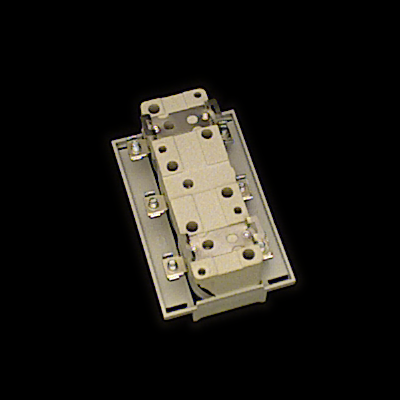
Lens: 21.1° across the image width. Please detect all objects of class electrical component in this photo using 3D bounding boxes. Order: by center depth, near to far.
[{"bbox_3d":[0.000,0.000,0.634,0.079,0.121,0.063,-15,-25,-8],"label":"electrical component"}]
